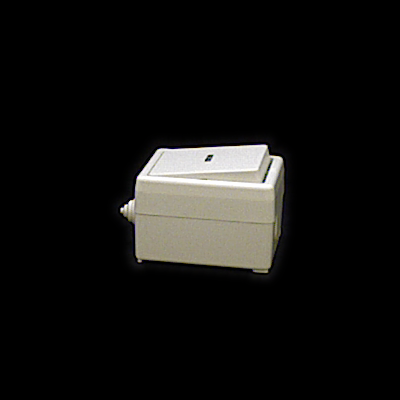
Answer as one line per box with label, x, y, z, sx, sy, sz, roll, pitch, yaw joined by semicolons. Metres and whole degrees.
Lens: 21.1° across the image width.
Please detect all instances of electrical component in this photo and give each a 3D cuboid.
electrical component;0.000;0.000;0.639;0.096;0.061;0.061;4;21;9
